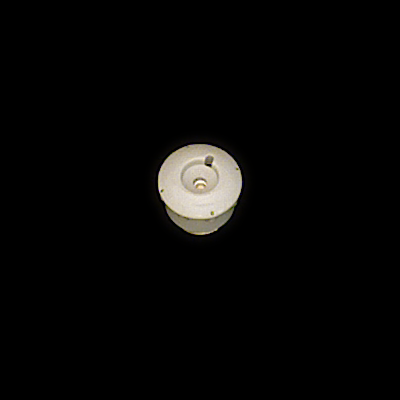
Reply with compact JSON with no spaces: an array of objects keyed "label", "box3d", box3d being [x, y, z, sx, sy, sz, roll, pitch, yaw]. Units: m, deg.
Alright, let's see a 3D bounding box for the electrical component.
[{"label":"electrical component","box3d":[0.000,0.000,0.634,0.048,0.048,0.062,0,-27,0]}]
